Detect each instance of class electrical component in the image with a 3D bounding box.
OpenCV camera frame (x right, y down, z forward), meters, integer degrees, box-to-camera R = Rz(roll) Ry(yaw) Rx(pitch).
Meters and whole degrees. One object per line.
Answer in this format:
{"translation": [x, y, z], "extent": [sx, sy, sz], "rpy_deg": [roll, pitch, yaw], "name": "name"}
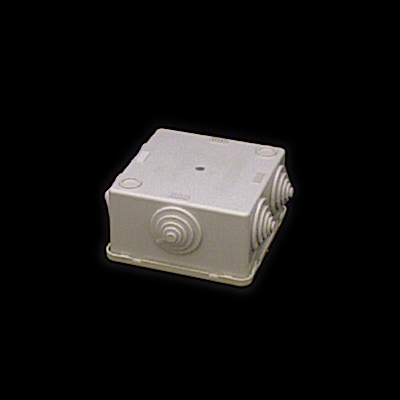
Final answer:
{"translation": [0.000, 0.000, 0.638], "extent": [0.099, 0.049, 0.099], "rpy_deg": [11, 33, 15], "name": "electrical component"}
